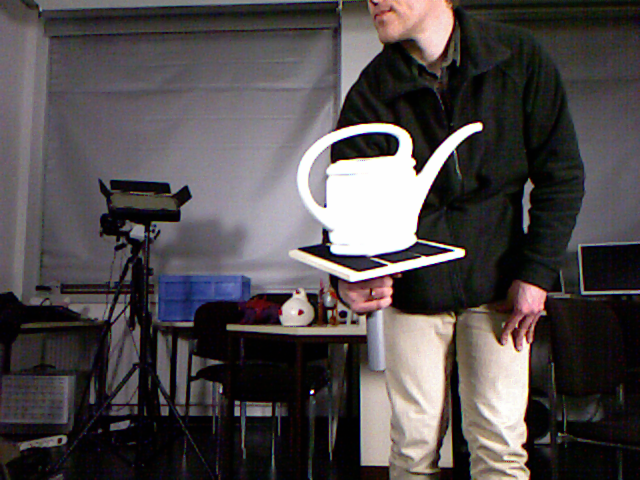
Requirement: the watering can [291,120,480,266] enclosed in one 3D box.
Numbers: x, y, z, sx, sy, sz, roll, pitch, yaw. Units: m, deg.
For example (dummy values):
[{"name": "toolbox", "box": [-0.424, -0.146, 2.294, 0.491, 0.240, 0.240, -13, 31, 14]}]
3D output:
[{"name": "watering can", "box": [0.119, -0.079, 0.819, 0.349, 0.222, 0.105, -10, 17, -24]}]
